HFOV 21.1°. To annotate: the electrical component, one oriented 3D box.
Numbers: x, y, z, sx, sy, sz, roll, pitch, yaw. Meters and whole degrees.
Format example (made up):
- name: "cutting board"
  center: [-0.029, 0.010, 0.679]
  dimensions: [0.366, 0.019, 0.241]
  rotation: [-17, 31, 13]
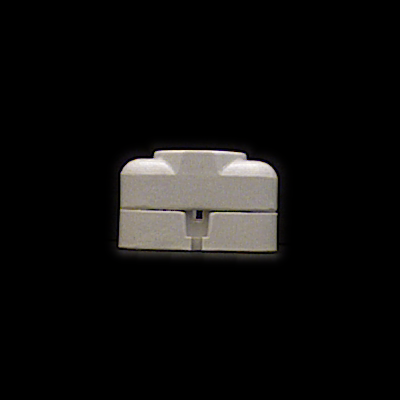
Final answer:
- name: "electrical component"
  center: [0.000, 0.000, 0.658]
  dimensions: [0.095, 0.059, 0.053]
  rotation: [2, 2, 1]
